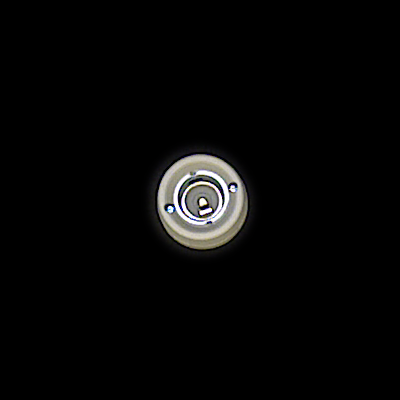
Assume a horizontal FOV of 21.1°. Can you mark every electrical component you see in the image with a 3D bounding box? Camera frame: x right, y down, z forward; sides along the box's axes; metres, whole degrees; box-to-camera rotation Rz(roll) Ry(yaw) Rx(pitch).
[{"bbox_3d":[0.000,0.000,0.634,0.055,0.055,0.047,0,-7,2],"label":"electrical component"}]
